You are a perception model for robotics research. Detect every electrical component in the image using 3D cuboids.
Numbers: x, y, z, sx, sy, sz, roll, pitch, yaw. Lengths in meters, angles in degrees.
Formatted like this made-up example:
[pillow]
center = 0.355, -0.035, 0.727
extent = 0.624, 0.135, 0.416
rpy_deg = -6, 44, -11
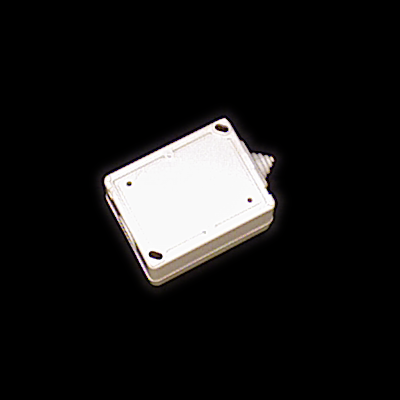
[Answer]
[electrical component]
center = 0.000, 0.000, 0.628
extent = 0.096, 0.062, 0.060
rpy_deg = -27, -15, -9
